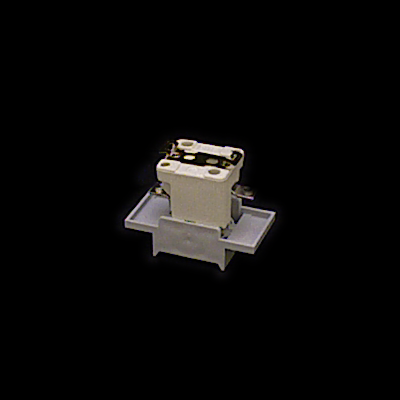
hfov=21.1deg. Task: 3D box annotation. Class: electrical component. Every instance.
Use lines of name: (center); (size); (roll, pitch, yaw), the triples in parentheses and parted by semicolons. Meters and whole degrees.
electrical component: (0.000, 0.000, 0.633); (0.080, 0.064, 0.042); (11, 33, 16)
